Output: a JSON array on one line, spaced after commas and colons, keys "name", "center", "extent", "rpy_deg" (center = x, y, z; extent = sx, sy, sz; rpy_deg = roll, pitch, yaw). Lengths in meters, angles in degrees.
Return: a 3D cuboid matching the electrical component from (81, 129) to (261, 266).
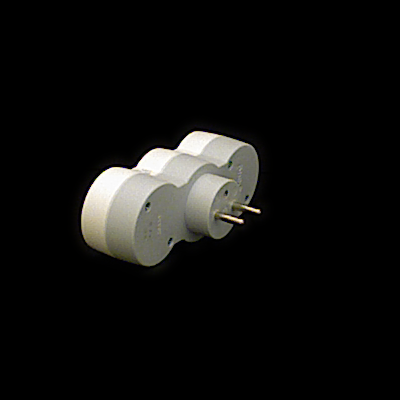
[{"name": "electrical component", "center": [0.000, 0.000, 0.645], "extent": [0.073, 0.053, 0.138], "rpy_deg": [16, 26, 30]}]
